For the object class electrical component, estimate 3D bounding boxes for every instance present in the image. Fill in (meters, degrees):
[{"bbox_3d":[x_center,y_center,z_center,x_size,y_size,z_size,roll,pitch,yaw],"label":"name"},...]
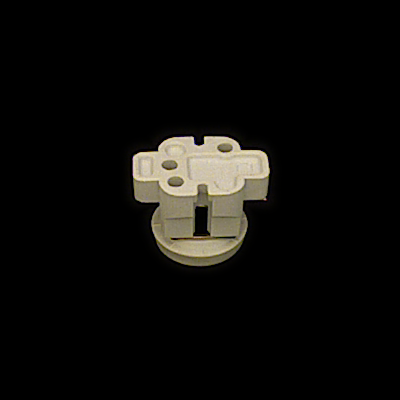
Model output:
[{"bbox_3d":[0.000,0.000,0.640,0.079,0.057,0.057,-1,42,-4],"label":"electrical component"}]
